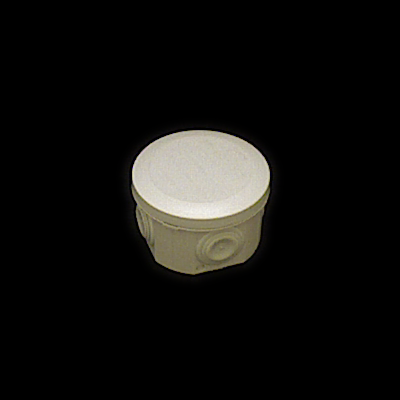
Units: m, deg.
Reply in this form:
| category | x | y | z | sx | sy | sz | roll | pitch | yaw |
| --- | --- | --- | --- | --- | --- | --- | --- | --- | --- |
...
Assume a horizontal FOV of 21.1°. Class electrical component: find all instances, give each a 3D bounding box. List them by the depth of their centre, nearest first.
| category | x | y | z | sx | sy | sz | roll | pitch | yaw |
| --- | --- | --- | --- | --- | --- | --- | --- | --- | --- |
| electrical component | 0.000 | 0.000 | 0.632 | 0.080 | 0.051 | 0.080 | 0 | 42 | 0 |
